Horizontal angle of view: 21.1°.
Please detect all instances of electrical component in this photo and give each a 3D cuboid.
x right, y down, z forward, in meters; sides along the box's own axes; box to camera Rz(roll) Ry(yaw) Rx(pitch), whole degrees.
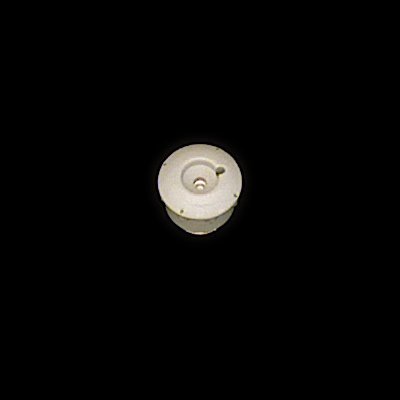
[{"bbox_3d":[0.000,0.000,0.634,0.048,0.048,0.062,0,-26,0],"label":"electrical component"}]
